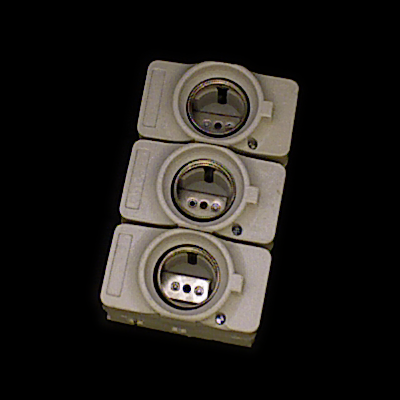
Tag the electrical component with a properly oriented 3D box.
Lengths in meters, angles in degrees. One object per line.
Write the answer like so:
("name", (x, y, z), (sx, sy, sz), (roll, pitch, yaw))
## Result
("electrical component", (0.000, 0.000, 0.631), (0.089, 0.150, 0.062), (10, -16, 3))
